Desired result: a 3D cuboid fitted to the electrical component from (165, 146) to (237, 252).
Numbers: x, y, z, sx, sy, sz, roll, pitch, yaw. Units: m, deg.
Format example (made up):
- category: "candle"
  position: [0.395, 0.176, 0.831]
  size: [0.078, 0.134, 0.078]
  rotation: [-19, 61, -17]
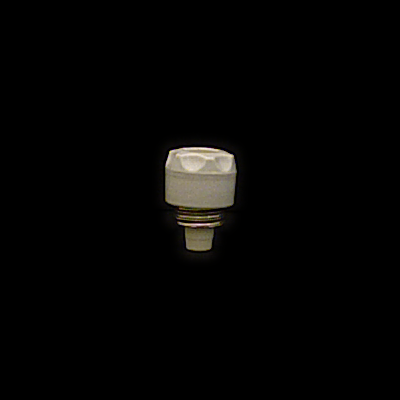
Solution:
- category: "electrical component"
  position: [0.000, 0.000, 0.651]
  size: [0.043, 0.062, 0.043]
  rotation: [2, 12, 0]
